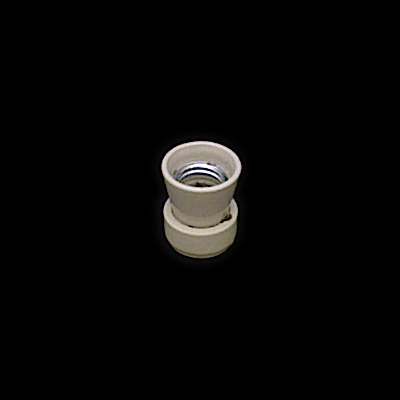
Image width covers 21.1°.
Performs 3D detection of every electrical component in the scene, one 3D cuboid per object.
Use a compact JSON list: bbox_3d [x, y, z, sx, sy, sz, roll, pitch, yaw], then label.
[{"bbox_3d":[0.000,0.000,0.633,0.045,0.056,0.044,1,42,-1],"label":"electrical component"}]
